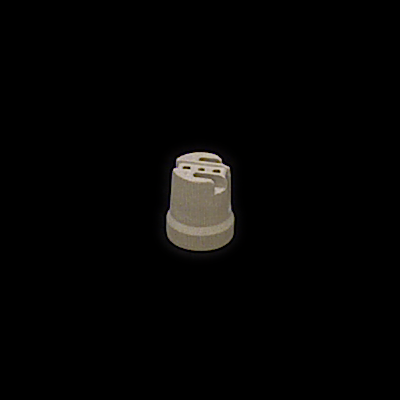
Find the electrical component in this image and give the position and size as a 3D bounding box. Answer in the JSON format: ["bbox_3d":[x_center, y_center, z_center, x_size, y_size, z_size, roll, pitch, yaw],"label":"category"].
[{"bbox_3d":[0.000,0.000,0.637,0.040,0.046,0.040,0,32,0],"label":"electrical component"}]
